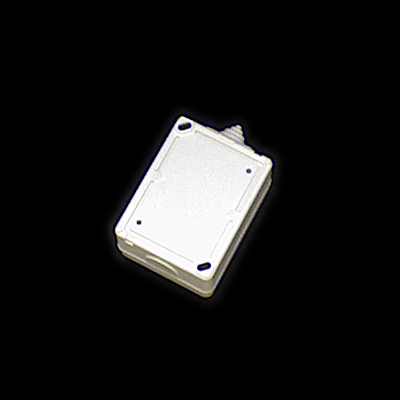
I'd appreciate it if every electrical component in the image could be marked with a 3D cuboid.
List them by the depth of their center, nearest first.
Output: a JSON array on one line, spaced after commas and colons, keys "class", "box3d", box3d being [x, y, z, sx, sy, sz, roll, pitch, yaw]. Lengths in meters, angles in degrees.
[{"class": "electrical component", "box3d": [0.001, 0.000, 0.628, 0.062, 0.096, 0.061, 27, -15, 8]}]
